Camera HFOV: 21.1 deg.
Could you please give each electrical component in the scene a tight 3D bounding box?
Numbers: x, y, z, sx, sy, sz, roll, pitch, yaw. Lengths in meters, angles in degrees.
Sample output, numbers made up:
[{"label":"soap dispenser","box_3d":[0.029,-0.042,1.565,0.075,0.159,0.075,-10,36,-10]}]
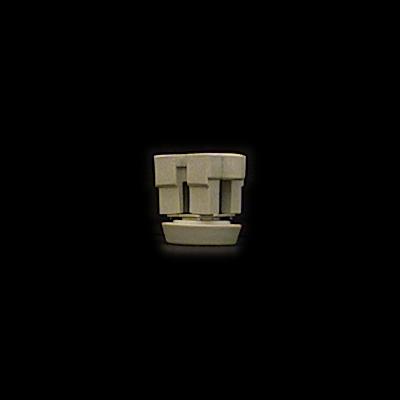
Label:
[{"label":"electrical component","box_3d":[0.000,0.000,0.657,0.066,0.055,0.049,1,3,38]}]
